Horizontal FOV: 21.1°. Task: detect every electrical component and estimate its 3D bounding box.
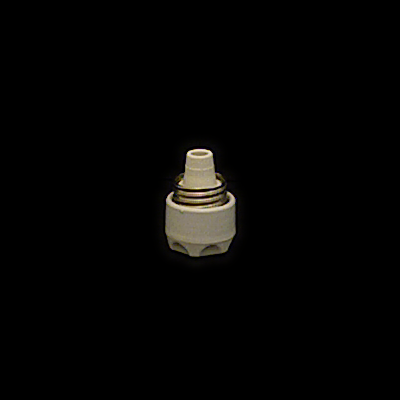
[{"bbox_3d":[0.000,0.000,0.646,0.043,0.063,0.043,0,22,1],"label":"electrical component"}]
